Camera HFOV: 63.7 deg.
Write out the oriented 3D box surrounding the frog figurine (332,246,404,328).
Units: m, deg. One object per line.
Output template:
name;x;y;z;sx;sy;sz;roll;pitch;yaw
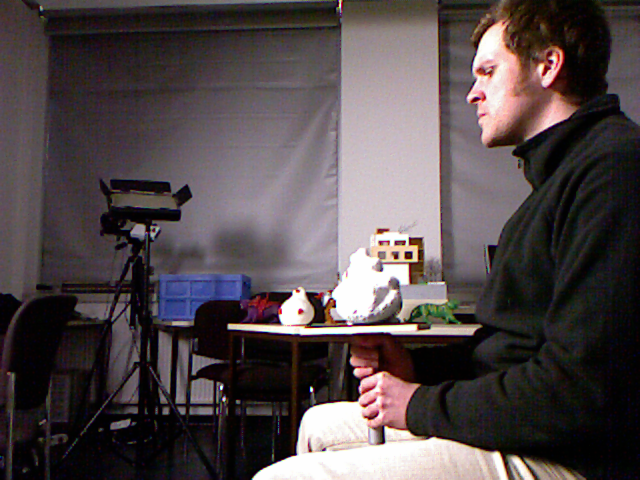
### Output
frog figurine;0.091;0.089;0.983;0.137;0.161;0.122;-9;-10;37
